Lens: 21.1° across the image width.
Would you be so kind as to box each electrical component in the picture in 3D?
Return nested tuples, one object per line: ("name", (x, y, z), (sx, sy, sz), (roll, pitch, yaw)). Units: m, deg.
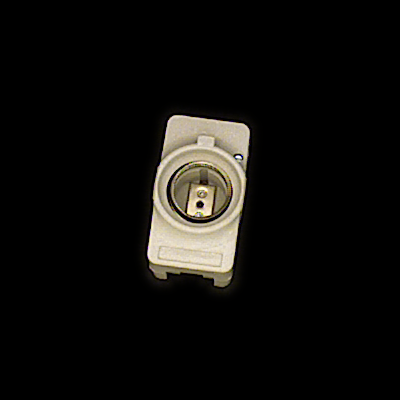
("electrical component", (0.000, 0.000, 0.636), (0.050, 0.090, 0.055), (7, -16, 2))
